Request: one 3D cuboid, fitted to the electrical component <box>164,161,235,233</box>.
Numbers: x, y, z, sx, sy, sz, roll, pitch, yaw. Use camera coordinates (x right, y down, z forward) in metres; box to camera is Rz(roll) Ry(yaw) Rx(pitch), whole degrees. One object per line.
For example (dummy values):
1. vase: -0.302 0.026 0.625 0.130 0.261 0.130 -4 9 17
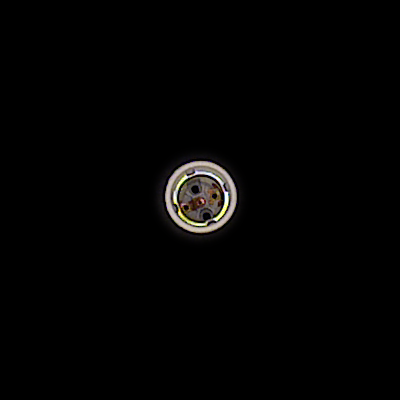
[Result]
1. electrical component: 0.000 0.000 0.627 0.040 0.040 0.046 0 -6 0
